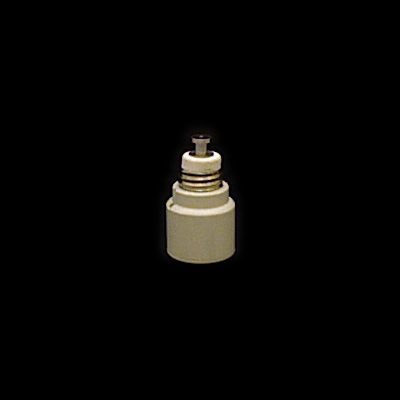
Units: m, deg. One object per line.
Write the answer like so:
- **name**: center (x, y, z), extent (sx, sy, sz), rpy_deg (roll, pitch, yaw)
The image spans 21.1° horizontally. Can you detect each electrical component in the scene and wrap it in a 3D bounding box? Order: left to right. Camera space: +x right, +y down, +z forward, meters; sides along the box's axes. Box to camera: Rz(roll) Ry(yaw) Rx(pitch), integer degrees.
- **electrical component**: center (0.000, 0.000, 0.636), extent (0.040, 0.079, 0.039), rpy_deg (0, 22, 0)
